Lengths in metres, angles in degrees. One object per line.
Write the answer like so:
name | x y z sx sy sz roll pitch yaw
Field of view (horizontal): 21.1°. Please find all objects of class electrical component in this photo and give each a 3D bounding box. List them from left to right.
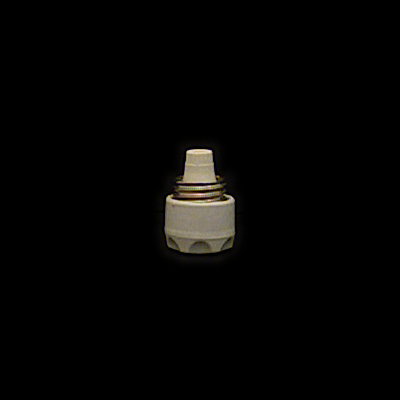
electrical component | 0.000 0.000 0.651 0.043 0.062 0.043 0 12 1
